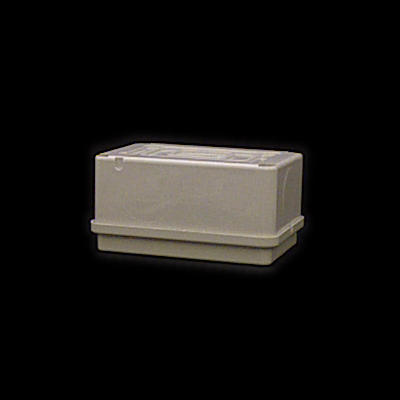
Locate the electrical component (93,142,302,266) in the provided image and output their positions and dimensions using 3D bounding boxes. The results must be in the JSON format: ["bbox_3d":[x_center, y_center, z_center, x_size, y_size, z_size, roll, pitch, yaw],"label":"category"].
[{"bbox_3d":[0.000,0.000,0.644,0.113,0.057,0.078,5,11,17],"label":"electrical component"}]
